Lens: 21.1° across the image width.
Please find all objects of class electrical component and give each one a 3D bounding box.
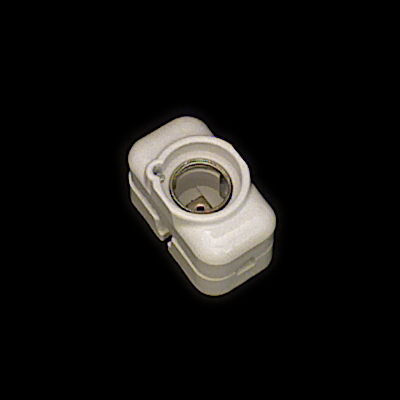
[{"bbox_3d":[0.000,0.000,0.633,0.054,0.095,0.059,-32,-23,-15],"label":"electrical component"}]
